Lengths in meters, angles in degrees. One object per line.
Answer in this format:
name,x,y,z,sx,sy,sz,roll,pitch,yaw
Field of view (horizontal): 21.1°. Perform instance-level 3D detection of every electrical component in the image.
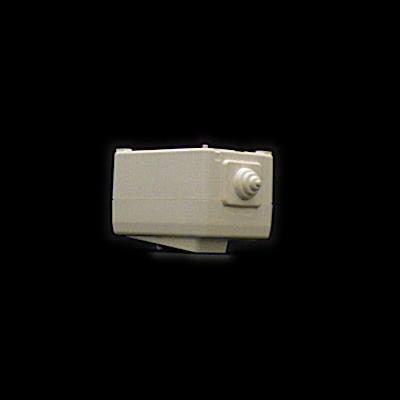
electrical component,0.000,0.000,0.646,0.096,0.061,0.061,1,-1,45
